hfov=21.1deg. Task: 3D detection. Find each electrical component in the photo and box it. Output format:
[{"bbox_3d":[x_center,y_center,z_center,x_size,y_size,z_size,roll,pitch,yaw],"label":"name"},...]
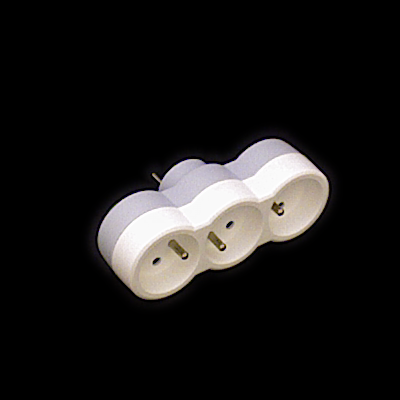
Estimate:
[{"bbox_3d":[0.000,0.000,0.632,0.138,0.052,0.073,-24,46,-24],"label":"electrical component"}]
